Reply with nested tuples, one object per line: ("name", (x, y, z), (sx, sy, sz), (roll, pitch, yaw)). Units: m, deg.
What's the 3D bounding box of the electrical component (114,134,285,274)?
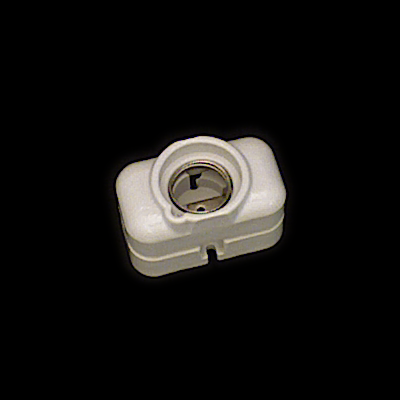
("electrical component", (0.000, 0.000, 0.633), (0.095, 0.053, 0.059), (-14, -26, -7))
